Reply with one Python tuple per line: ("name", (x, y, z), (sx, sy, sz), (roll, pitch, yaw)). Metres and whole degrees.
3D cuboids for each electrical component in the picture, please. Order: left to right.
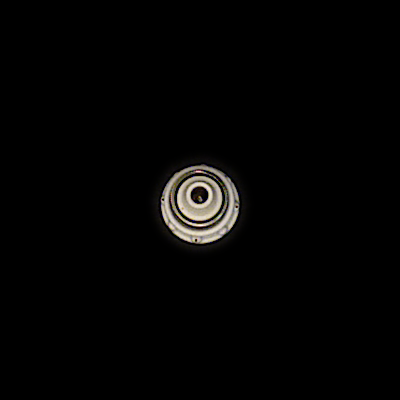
("electrical component", (0.000, 0.000, 0.635), (0.048, 0.048, 0.061), (0, -6, 0))
